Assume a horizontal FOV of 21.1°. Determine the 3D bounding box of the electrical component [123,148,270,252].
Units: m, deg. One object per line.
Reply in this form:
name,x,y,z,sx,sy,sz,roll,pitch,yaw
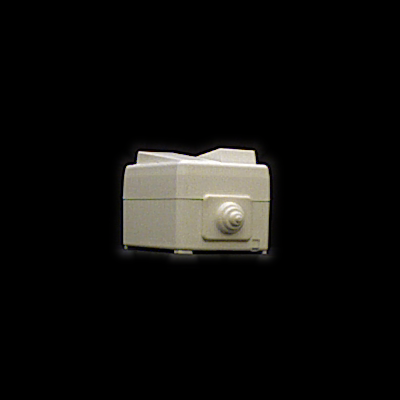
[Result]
electrical component,0.000,0.000,0.647,0.062,0.061,0.096,1,0,-28
